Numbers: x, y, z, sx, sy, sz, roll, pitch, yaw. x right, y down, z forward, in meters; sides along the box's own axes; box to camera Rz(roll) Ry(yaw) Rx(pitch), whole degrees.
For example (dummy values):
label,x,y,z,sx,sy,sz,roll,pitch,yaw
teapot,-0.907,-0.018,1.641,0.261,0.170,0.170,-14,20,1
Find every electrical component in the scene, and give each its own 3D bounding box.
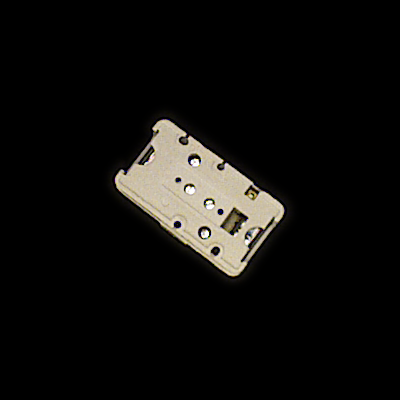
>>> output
label,x,y,z,sx,sy,sz,roll,pitch,yaw
electrical component,0.000,0.000,0.637,0.089,0.050,0.055,37,-5,3
